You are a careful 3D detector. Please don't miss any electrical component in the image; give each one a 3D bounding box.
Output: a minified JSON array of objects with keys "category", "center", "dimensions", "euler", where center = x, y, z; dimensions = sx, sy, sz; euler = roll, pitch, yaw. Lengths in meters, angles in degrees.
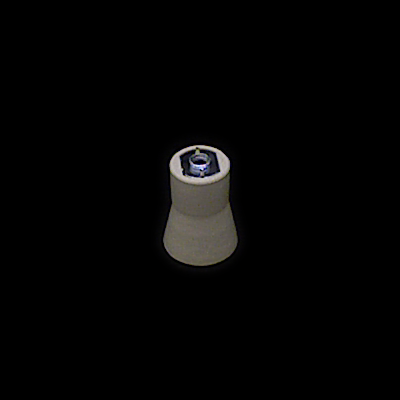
[{"category":"electrical component","center":[0.000,0.000,0.629],"dimensions":[0.044,0.066,0.044],"euler":[0,42,1]}]
